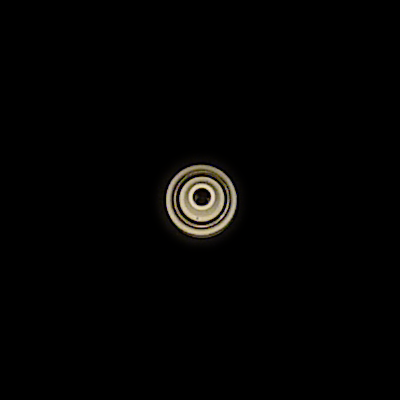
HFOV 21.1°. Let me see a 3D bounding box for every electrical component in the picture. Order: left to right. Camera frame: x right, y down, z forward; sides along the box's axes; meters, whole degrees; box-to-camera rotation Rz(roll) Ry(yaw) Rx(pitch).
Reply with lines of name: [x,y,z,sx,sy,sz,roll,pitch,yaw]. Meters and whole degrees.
electrical component: [0.000,0.000,0.635,0.043,0.043,0.062,0,-4,0]
